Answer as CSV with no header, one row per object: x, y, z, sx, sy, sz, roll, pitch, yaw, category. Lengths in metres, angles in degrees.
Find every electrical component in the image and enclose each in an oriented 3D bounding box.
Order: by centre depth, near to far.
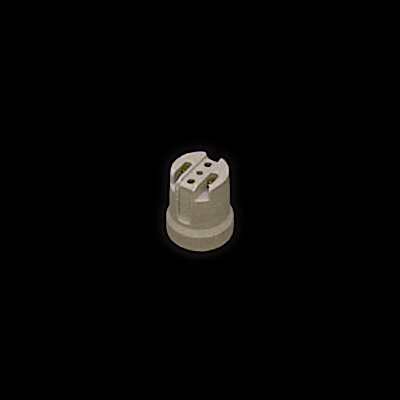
0.000,0.000,0.635,0.040,0.046,0.040,0,42,0,electrical component
